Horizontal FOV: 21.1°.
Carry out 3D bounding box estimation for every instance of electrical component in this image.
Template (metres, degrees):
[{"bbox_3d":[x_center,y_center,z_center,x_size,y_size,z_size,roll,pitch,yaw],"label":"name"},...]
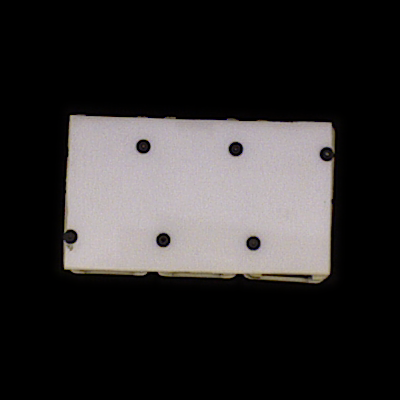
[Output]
[{"bbox_3d":[0.000,0.000,0.631,0.150,0.089,0.061,2,-6,0],"label":"electrical component"}]
